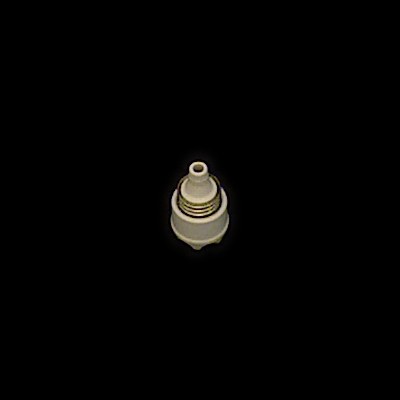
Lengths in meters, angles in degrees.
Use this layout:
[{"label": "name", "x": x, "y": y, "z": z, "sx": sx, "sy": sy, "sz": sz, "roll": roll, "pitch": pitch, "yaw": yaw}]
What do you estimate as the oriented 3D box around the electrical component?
[{"label": "electrical component", "x": 0.000, "y": 0.000, "z": 0.638, "sx": 0.035, "sy": 0.035, "sz": 0.062, "roll": 0, "pitch": -39, "yaw": 1}]
